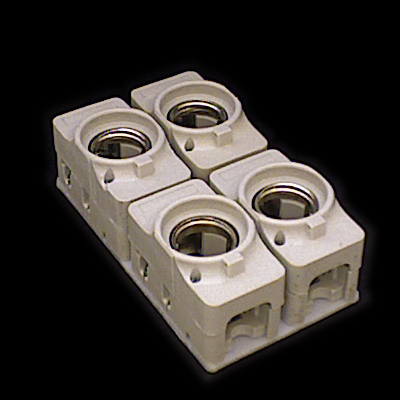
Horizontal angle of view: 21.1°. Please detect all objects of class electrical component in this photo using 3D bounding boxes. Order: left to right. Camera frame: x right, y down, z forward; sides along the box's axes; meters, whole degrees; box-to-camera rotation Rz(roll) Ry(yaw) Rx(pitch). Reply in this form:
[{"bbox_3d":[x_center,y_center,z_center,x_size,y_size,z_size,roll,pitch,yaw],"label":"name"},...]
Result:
[{"bbox_3d":[0.000,0.000,0.630,0.105,0.061,0.184,-22,47,-24],"label":"electrical component"}]
